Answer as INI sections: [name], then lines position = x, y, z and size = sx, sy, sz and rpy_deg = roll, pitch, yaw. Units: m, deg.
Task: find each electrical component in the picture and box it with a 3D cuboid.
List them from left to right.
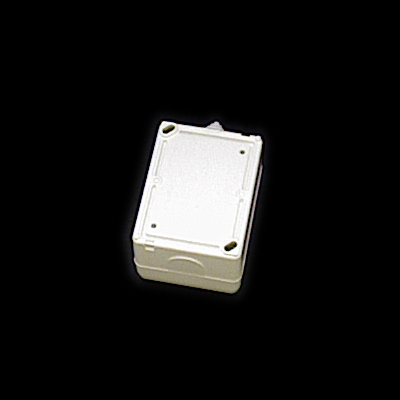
[electrical component]
position = 0.000, 0.000, 0.630
size = 0.061, 0.096, 0.061
rpy_deg = 9, -27, 6
